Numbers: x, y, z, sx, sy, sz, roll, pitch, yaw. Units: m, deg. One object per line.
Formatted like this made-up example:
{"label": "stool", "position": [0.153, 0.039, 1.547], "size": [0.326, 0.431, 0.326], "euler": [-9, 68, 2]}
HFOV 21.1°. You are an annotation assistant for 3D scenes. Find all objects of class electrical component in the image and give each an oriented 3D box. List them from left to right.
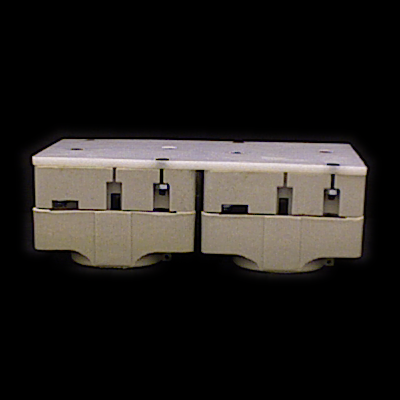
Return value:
{"label": "electrical component", "position": [0.000, 0.000, 0.644], "size": [0.186, 0.060, 0.104], "euler": [1, 10, 2]}
